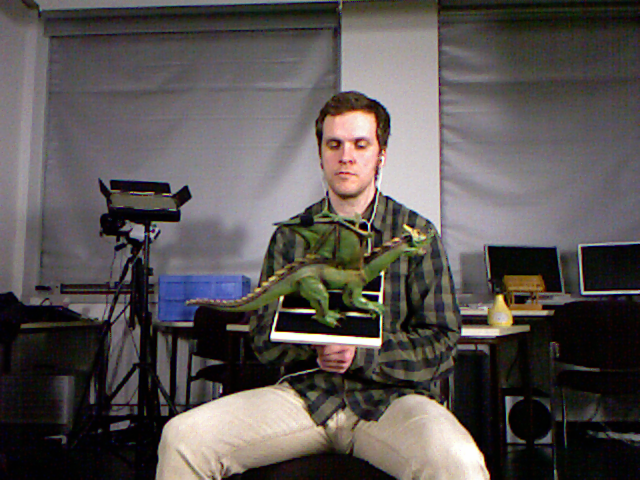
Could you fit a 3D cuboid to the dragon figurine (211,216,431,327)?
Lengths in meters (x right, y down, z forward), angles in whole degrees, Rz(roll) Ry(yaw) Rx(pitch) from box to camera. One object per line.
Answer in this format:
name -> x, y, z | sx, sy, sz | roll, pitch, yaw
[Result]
dragon figurine -> -0.002, 0.042, 0.914 | 0.412, 0.237, 0.125 | -7, 44, -6
